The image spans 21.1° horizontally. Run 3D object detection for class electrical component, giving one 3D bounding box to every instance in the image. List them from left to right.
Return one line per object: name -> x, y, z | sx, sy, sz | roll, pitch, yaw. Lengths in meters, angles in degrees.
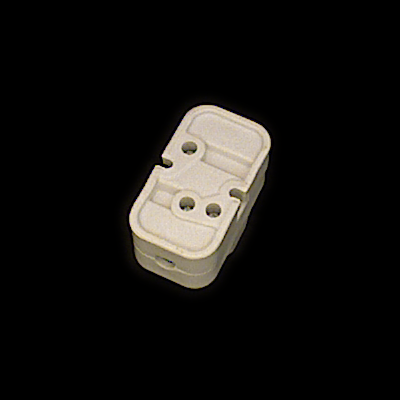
electrical component -> 0.000, 0.000, 0.635 | 0.053, 0.095, 0.059 | 23, -25, 12
